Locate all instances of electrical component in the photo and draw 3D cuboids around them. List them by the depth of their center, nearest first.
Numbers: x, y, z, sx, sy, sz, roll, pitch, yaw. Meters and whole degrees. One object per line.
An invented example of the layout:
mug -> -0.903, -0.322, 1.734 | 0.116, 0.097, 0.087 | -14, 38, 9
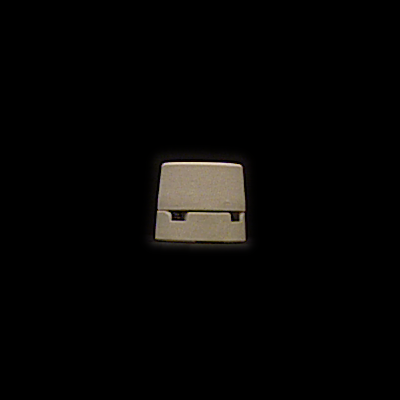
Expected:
electrical component -> 0.000, 0.000, 0.652 | 0.055, 0.047, 0.055 | 1, 0, 0
